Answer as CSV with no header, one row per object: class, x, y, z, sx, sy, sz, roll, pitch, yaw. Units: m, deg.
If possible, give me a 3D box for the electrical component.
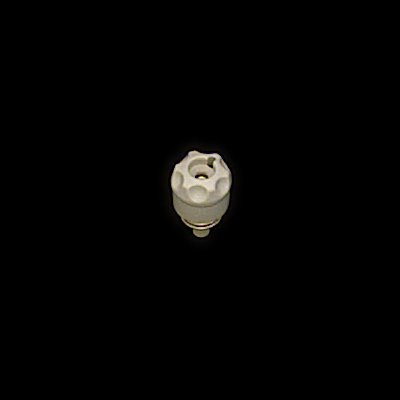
electrical component,0.000,0.000,0.636,0.035,0.035,0.062,0,-37,0
